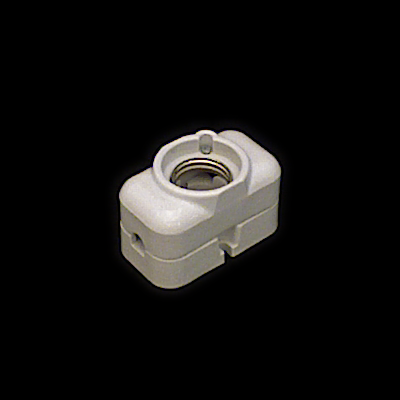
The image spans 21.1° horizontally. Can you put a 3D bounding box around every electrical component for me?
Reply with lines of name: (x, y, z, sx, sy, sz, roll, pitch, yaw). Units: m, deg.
electrical component: (0.000, 0.000, 0.639, 0.095, 0.060, 0.053, -29, 51, -29)
